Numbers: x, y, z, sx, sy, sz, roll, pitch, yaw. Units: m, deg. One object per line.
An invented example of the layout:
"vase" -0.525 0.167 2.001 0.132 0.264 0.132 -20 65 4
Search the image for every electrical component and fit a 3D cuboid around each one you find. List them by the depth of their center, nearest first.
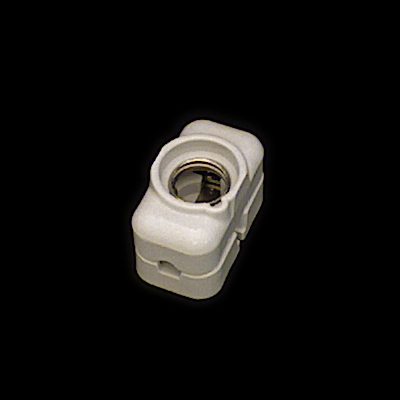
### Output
"electrical component" 0.000 0.000 0.635 0.053 0.095 0.059 18 -35 13
